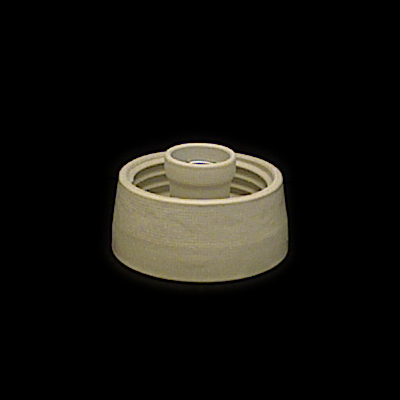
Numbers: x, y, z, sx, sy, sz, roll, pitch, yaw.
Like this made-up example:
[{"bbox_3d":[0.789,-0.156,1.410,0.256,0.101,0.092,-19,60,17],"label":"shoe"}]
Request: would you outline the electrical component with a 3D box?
[{"bbox_3d":[0.000,0.000,0.646,0.108,0.061,0.106,1,22,0],"label":"electrical component"}]
